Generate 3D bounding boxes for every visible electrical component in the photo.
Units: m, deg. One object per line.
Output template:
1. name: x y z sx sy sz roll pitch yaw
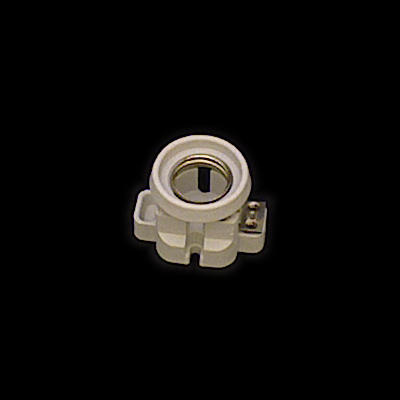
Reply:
1. electrical component: 0.000 0.000 0.630 0.078 0.057 0.057 7 -37 4
